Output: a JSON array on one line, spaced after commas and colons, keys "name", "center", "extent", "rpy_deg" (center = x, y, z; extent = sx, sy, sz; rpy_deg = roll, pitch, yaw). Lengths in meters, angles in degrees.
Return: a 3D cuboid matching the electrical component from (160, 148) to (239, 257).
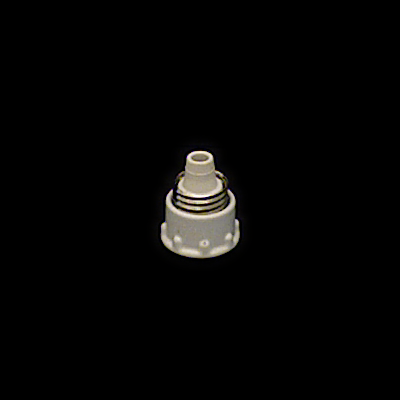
[{"name": "electrical component", "center": [0.000, 0.000, 0.639], "extent": [0.048, 0.063, 0.047], "rpy_deg": [0, 33, 0]}]
